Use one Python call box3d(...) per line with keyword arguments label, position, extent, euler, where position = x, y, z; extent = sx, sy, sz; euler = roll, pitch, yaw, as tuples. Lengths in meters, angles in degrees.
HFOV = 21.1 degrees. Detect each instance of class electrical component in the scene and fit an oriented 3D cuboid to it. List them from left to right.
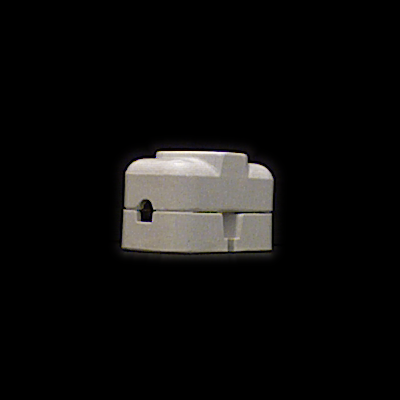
box3d(label="electrical component", position=(0.000, 0.000, 0.658), extent=(0.053, 0.059, 0.096), euler=(3, 1, 41))
